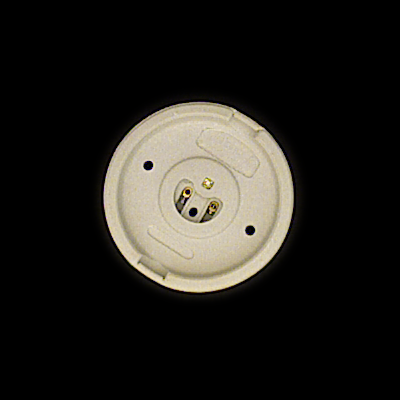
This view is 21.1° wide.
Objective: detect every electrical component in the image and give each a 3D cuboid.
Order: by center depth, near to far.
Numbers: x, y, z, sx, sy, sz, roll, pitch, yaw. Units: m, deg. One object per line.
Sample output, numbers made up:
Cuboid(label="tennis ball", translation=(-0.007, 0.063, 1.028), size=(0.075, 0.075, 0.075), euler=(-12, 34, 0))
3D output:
Cuboid(label="electrical component", translation=(0.000, 0.000, 0.635), size=(0.108, 0.108, 0.060), euler=(0, -6, 0))
